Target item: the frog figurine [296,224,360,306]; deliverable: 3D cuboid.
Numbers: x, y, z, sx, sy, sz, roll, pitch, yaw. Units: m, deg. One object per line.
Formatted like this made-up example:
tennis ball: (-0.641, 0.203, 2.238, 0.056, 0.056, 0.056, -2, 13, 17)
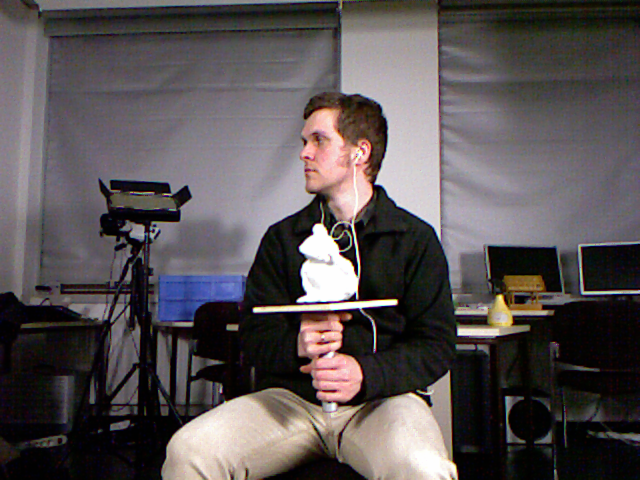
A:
frog figurine: (0.013, 0.049, 1.018, 0.123, 0.160, 0.137, -1, -4, -27)
